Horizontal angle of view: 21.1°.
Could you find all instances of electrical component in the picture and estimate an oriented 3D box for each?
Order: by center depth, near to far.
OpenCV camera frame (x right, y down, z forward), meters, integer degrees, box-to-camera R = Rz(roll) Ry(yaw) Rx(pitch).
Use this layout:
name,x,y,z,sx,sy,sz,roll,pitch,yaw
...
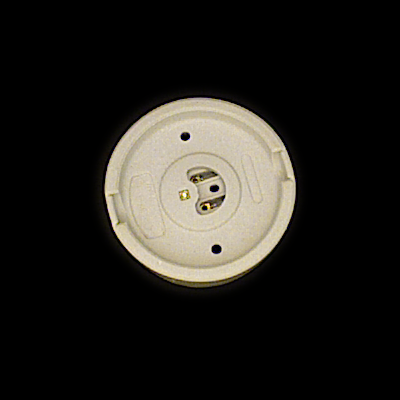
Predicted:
name,x,y,z,sx,sy,sz,roll,pitch,yaw
electrical component,0.000,0.000,0.633,0.108,0.108,0.060,0,-16,0
